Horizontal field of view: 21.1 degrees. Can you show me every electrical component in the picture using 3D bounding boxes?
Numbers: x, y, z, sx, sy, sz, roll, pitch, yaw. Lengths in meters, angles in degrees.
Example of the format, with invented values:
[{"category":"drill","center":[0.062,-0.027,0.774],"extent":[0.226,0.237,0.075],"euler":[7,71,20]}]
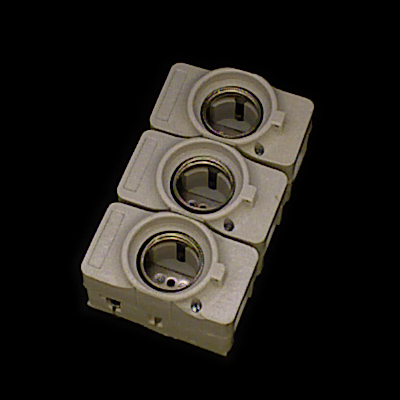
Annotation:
[{"category":"electrical component","center":[0.000,0.000,0.631],"extent":[0.089,0.149,0.062],"euler":[18,-25,9]}]
